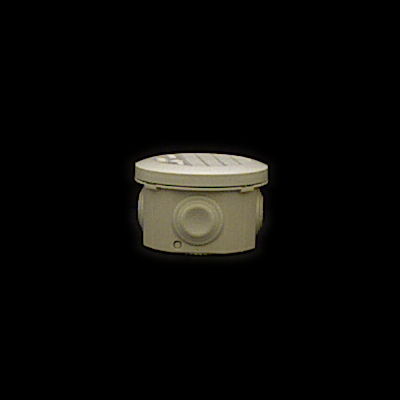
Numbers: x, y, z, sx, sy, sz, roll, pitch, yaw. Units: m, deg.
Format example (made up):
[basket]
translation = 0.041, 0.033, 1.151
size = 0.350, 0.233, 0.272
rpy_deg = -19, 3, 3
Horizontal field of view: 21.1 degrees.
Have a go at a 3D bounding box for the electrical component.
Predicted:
[electrical component]
translation = 0.000, 0.000, 0.647
size = 0.080, 0.051, 0.079
rpy_deg = 1, 10, 0
